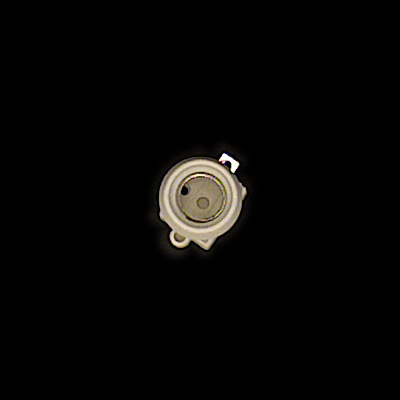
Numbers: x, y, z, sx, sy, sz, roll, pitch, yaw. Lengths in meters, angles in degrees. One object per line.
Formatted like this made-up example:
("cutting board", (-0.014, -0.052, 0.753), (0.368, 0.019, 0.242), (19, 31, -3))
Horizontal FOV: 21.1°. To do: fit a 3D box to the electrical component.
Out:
("electrical component", (0.000, 0.000, 0.639), (0.048, 0.066, 0.055), (33, -4, 2))
